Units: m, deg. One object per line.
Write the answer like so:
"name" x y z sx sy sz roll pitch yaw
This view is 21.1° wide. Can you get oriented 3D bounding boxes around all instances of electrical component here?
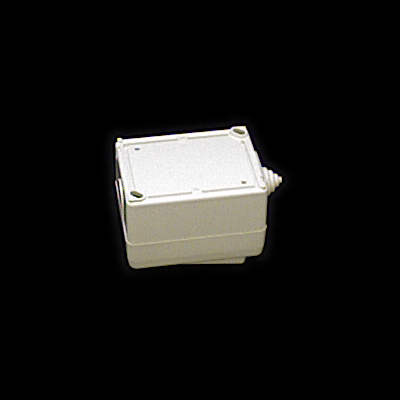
"electrical component" 0.000 0.000 0.633 0.096 0.061 0.061 -6 41 -7
